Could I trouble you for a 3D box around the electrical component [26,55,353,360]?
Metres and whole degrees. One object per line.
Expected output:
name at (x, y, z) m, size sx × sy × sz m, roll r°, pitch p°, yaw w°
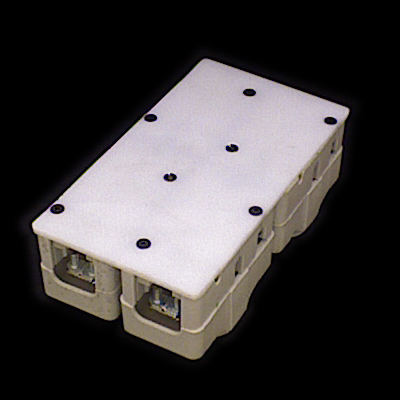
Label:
electrical component at (0.000, 0.000, 0.630) m, size 0.105 × 0.061 × 0.185 m, roll 22°, pitch 46°, yaw 22°
